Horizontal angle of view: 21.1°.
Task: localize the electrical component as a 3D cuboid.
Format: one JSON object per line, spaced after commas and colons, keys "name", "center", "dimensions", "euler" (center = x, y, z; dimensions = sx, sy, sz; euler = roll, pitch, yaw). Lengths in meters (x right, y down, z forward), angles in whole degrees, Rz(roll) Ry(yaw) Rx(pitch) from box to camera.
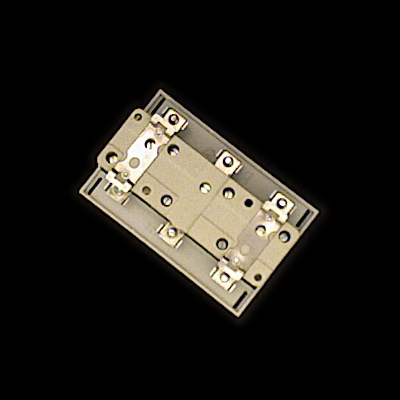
{"name": "electrical component", "center": [0.000, 0.000, 0.634], "dimensions": [0.121, 0.079, 0.063], "euler": [38, -4, 4]}
